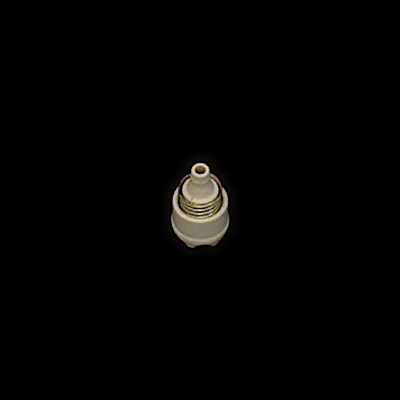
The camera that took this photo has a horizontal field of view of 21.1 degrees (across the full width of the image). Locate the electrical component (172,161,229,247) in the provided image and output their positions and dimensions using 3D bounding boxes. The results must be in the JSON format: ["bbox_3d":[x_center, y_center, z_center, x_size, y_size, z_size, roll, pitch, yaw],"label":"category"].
[{"bbox_3d":[0.000,0.000,0.641,0.035,0.035,0.062,0,-36,0],"label":"electrical component"}]
